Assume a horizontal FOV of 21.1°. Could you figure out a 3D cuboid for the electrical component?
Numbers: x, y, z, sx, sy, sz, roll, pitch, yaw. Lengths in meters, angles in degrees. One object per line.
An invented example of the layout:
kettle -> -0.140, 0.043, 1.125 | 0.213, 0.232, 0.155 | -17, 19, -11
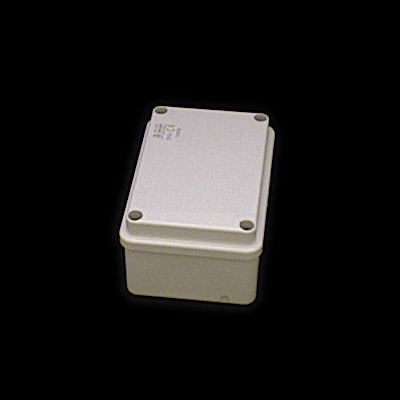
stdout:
electrical component -> 0.000, 0.000, 0.631 | 0.078, 0.057, 0.112 | 5, 42, 4
